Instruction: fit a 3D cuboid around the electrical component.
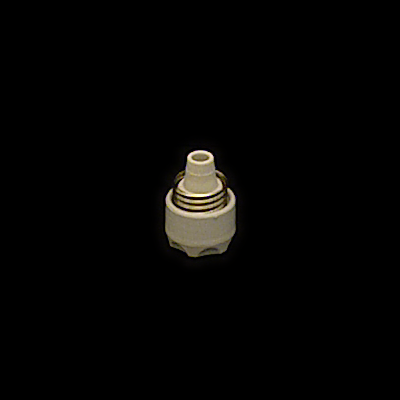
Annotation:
[{"bbox_3d":[0.000,0.000,0.640,0.043,0.063,0.043,0,33,0],"label":"electrical component"}]
